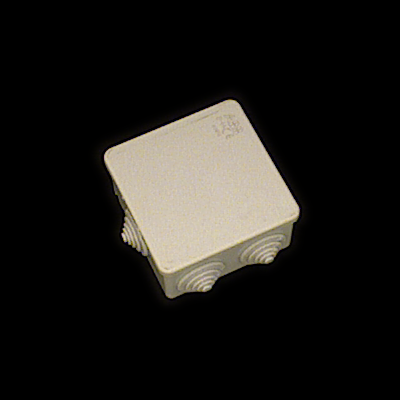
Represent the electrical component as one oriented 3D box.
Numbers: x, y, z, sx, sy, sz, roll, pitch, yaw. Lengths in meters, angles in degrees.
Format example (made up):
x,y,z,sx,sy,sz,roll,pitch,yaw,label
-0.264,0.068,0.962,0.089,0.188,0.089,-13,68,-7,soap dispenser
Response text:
x,y,z,sx,sy,sz,roll,pitch,yaw,label
0.000,0.000,0.641,0.100,0.099,0.048,-23,-24,-11,electrical component
